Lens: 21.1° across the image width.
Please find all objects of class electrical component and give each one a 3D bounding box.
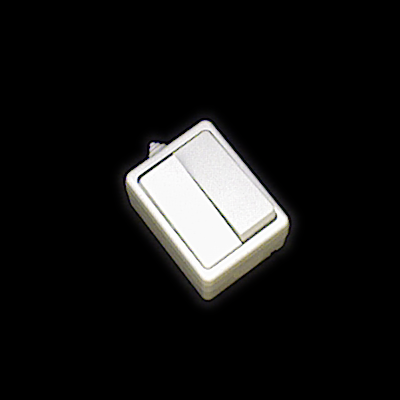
[{"bbox_3d":[0.000,0.000,0.626,0.062,0.096,0.060,-36,-14,-10],"label":"electrical component"}]
